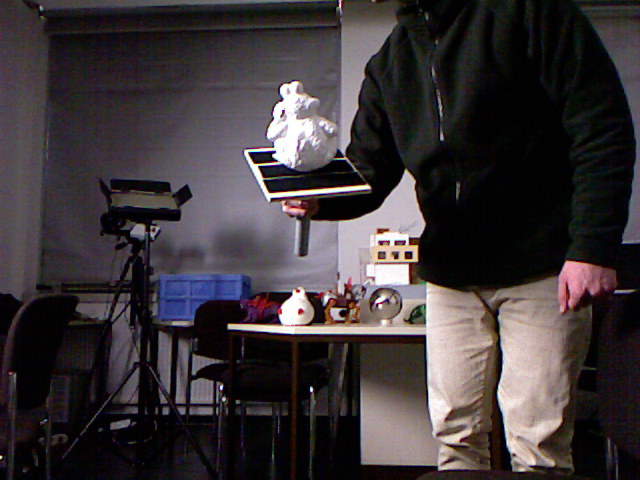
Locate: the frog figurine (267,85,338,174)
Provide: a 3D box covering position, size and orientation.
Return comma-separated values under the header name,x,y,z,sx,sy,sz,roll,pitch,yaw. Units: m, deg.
name,x,y,z,sx,sy,sz,roll,pitch,yaw
frog figurine,-0.032,-0.214,0.999,0.138,0.156,0.126,5,38,0
